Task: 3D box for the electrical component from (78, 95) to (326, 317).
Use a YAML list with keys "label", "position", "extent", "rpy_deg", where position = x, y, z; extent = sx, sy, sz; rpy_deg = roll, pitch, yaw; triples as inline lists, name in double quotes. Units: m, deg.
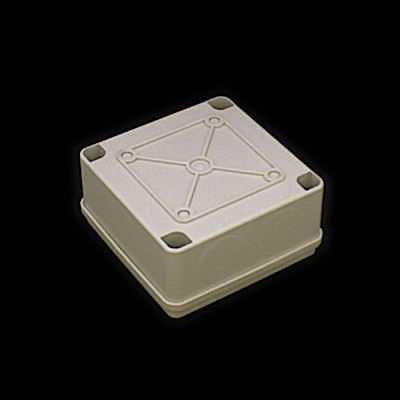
- label: "electrical component"
  position: [0.000, 0.000, 0.631]
  extent: [0.109, 0.057, 0.107]
  rpy_deg: [-24, 47, -25]
